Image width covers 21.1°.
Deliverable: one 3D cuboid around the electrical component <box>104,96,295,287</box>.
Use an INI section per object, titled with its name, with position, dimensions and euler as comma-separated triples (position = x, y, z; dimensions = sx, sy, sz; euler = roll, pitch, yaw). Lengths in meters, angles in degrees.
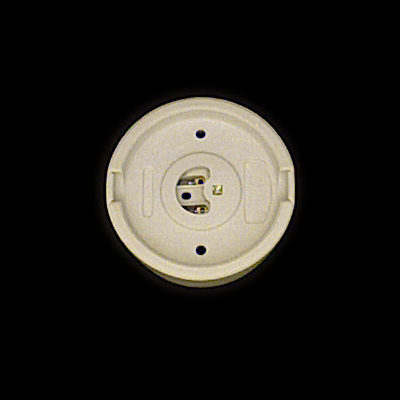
[electrical component]
position = 0.000, 0.000, 0.634
dimensions = 0.108, 0.108, 0.060
euler = 0, -16, 1
